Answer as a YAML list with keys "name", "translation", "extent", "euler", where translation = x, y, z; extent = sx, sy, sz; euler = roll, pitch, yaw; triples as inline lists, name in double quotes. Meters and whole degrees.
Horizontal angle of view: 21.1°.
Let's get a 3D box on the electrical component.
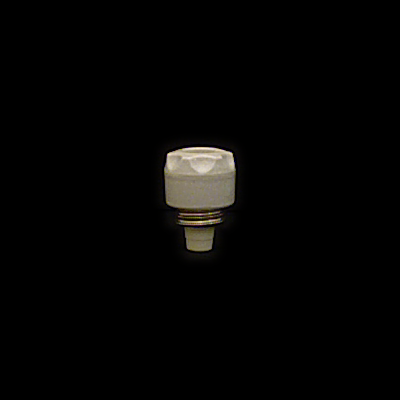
- name: "electrical component"
  translation: [0.000, 0.000, 0.650]
  extent: [0.043, 0.062, 0.043]
  euler: [1, 12, 0]
